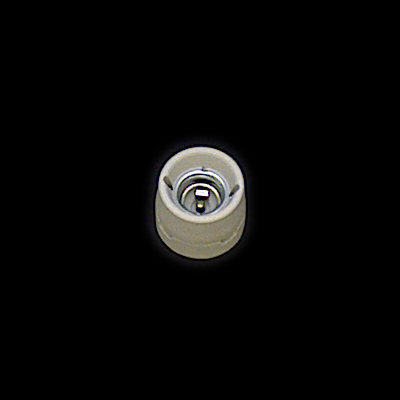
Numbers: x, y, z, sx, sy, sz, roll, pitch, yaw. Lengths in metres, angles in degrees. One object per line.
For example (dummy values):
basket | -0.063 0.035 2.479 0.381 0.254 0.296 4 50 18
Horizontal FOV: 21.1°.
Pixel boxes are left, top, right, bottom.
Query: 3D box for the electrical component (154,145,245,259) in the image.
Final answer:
electrical component | 0.000 0.000 0.633 0.055 0.056 0.047 0 -27 -1
